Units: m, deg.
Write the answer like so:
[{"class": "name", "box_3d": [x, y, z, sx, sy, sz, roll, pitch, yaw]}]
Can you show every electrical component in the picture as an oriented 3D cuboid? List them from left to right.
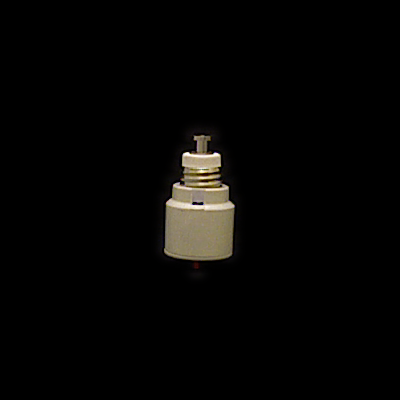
[{"class": "electrical component", "box_3d": [0.000, 0.000, 0.642, 0.040, 0.079, 0.040, 2, 11, 0]}]
